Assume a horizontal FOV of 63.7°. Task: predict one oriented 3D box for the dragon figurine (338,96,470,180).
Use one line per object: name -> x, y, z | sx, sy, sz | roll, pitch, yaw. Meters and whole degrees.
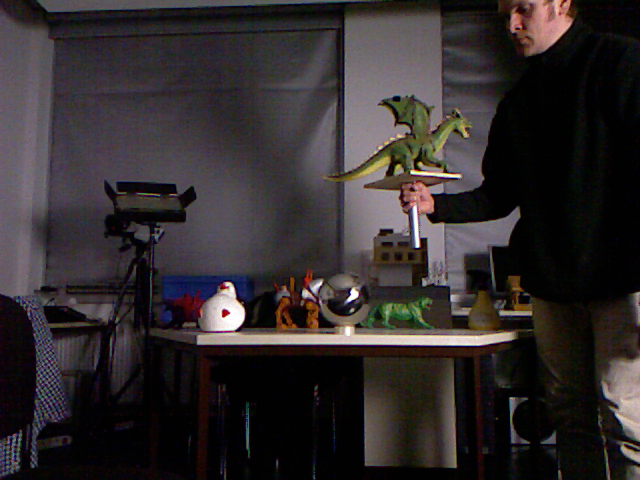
dragon figurine -> 0.254, -0.307, 1.550 | 0.411, 0.243, 0.122 | -3, 1, -2
